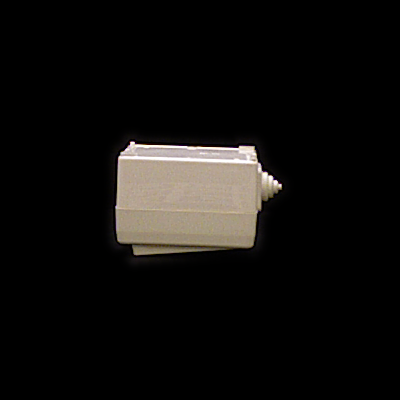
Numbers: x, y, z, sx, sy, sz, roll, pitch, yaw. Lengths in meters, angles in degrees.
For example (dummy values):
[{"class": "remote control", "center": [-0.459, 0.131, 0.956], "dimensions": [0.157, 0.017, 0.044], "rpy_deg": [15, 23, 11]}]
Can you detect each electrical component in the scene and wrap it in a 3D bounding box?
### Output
[{"class": "electrical component", "center": [0.000, 0.000, 0.642], "dimensions": [0.096, 0.061, 0.061], "rpy_deg": [2, 11, 1]}]
